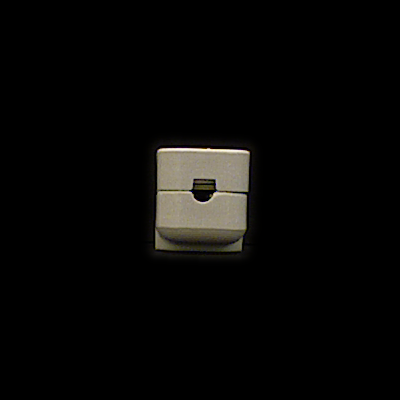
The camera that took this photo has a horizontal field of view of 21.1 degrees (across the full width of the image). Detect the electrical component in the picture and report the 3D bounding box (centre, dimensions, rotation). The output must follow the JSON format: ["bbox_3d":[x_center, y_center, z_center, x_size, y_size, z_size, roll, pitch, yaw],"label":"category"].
[{"bbox_3d":[0.000,0.000,0.658,0.054,0.059,0.095,1,0,-3],"label":"electrical component"}]
